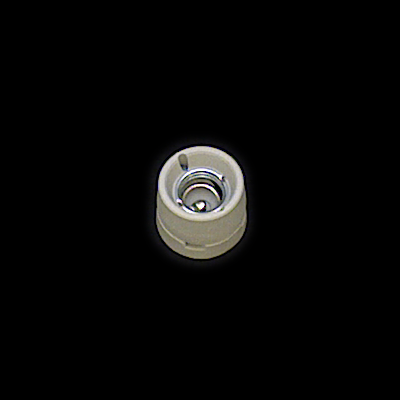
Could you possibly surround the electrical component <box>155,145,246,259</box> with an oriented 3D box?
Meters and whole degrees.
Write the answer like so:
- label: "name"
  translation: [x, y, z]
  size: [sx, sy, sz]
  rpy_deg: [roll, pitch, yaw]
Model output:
- label: "electrical component"
  translation: [0.000, 0.000, 0.633]
  size: [0.055, 0.055, 0.047]
  rpy_deg: [0, -28, 0]
